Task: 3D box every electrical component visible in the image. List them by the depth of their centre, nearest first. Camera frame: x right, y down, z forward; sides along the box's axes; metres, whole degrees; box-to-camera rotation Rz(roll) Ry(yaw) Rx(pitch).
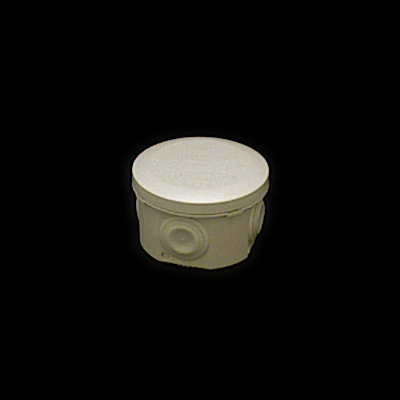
[{"bbox_3d":[0.000,0.000,0.636,0.080,0.051,0.079,1,31,0],"label":"electrical component"}]
